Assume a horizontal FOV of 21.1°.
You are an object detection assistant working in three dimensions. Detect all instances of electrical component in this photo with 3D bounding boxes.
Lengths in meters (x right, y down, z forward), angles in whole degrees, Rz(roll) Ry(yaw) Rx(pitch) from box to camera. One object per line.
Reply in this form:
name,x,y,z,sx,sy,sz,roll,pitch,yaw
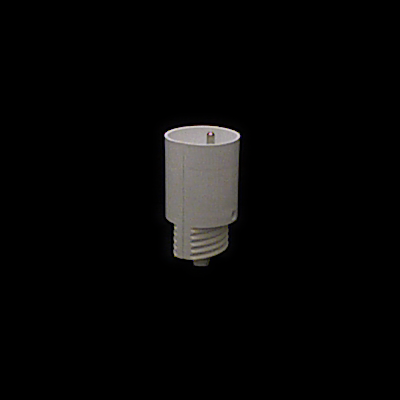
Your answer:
electrical component,0.000,0.000,0.637,0.043,0.082,0.042,2,21,0
